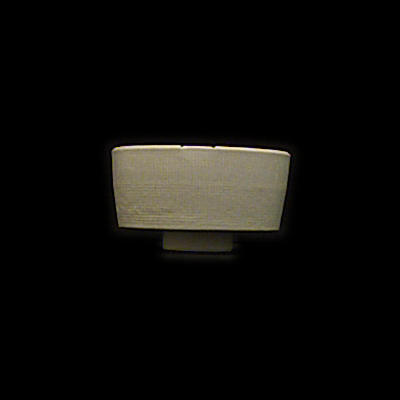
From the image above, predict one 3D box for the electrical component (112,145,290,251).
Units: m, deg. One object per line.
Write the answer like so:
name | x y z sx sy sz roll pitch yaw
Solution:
electrical component | 0.000 0.000 0.653 0.108 0.060 0.108 1 0 0
